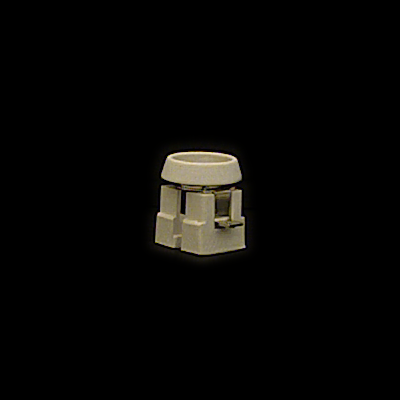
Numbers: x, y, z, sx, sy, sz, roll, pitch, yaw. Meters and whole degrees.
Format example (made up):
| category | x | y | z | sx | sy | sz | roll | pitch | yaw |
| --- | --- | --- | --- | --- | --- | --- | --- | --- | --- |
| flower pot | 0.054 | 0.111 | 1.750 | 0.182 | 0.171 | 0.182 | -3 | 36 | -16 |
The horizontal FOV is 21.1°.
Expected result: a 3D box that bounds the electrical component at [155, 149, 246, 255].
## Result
| category | x | y | z | sx | sy | sz | roll | pitch | yaw |
| --- | --- | --- | --- | --- | --- | --- | --- | --- | --- |
| electrical component | 0.000 | 0.000 | 0.652 | 0.048 | 0.056 | 0.065 | -12 | 17 | -41 |
